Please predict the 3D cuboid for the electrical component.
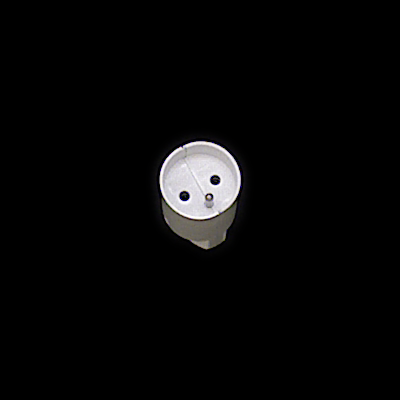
[{"bbox_3d":[0.000,0.000,0.615,0.043,0.043,0.080,0,-16,0],"label":"electrical component"}]
